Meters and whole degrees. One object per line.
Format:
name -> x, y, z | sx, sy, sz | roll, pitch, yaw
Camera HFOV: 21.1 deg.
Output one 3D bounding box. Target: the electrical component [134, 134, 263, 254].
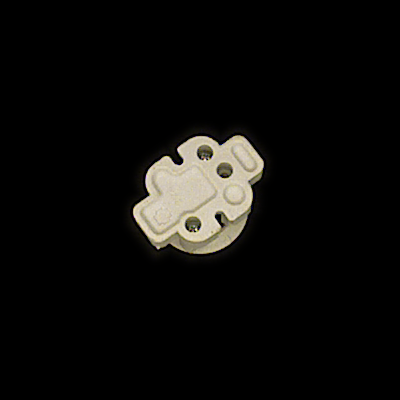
electrical component -> 0.000, 0.000, 0.635 | 0.079, 0.058, 0.056 | -36, -12, -8
